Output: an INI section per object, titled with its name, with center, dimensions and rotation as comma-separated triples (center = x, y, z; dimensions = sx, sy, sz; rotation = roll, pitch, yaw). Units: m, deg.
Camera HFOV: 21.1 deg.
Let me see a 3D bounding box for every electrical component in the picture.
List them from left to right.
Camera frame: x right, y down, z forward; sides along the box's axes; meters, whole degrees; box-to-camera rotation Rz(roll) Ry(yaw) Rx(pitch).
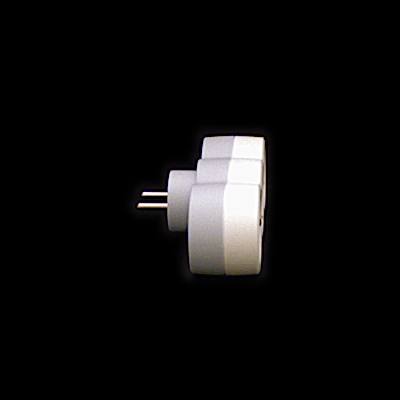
[electrical component]
center = 0.000, 0.000, 0.638
dimensions = 0.074, 0.053, 0.137
rotation = 1, 22, 5
